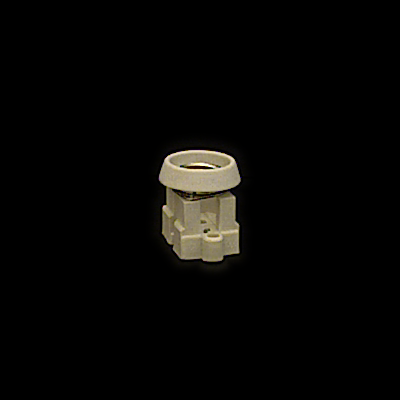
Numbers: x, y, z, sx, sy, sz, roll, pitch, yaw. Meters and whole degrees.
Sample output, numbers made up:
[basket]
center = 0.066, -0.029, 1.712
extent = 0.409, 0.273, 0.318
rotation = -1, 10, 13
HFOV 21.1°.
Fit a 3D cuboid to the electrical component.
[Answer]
[electrical component]
center = 0.000, 0.000, 0.647
extent = 0.049, 0.056, 0.065
rotation = -5, 23, -19
